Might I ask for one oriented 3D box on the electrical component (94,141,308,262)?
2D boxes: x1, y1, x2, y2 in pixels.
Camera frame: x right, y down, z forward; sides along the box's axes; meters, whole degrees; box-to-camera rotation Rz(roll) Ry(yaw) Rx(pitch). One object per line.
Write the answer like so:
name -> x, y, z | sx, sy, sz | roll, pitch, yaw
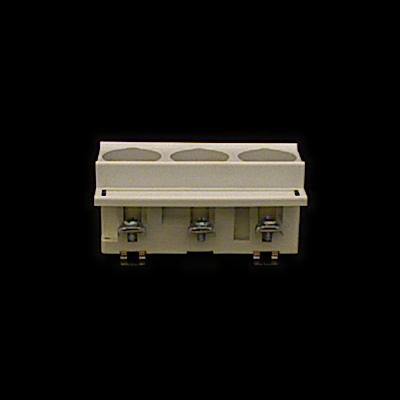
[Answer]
electrical component -> 0.000, 0.000, 0.652 | 0.121, 0.064, 0.077 | 0, 20, -2
